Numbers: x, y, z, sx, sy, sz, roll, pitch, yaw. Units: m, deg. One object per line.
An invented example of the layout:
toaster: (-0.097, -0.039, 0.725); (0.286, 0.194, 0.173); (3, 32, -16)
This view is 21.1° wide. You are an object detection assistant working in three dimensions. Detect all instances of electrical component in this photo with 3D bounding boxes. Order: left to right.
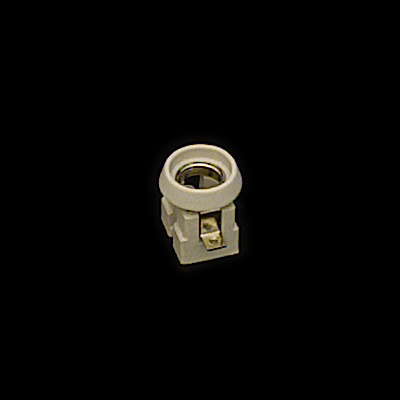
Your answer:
electrical component: (0.000, 0.000, 0.639); (0.048, 0.056, 0.065); (-14, 45, -13)
